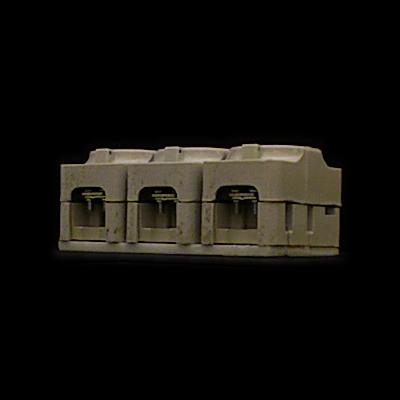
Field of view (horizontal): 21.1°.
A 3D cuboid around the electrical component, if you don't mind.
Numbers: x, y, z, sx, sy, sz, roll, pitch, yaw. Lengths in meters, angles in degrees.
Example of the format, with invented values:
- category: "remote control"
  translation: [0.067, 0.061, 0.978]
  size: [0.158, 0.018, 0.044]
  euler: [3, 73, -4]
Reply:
- category: "electrical component"
  translation: [0.000, 0.000, 0.655]
  size: [0.150, 0.062, 0.090]
  euler: [0, 0, 32]
